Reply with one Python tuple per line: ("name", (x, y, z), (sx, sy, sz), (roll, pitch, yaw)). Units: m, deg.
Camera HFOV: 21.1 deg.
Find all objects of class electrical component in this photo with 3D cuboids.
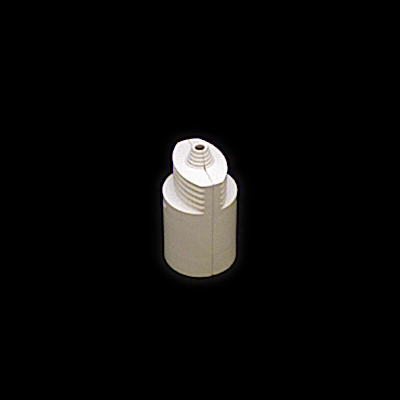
("electrical component", (0.000, 0.000, 0.624), (0.043, 0.082, 0.042), (0, 41, 0))
